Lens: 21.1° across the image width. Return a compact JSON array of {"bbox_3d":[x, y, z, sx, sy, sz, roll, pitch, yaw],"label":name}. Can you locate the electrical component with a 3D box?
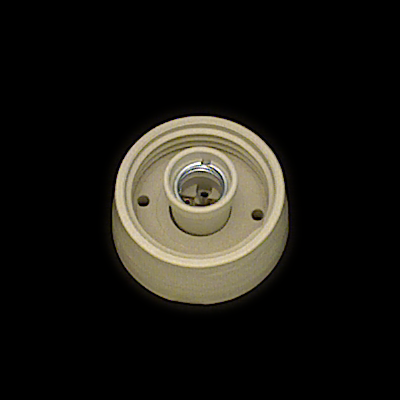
[{"bbox_3d":[0.000,0.000,0.633,0.108,0.108,0.060,0,-27,-1],"label":"electrical component"}]
